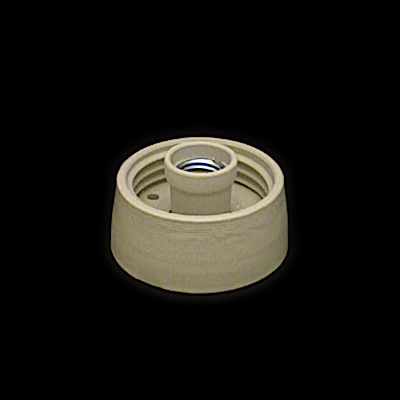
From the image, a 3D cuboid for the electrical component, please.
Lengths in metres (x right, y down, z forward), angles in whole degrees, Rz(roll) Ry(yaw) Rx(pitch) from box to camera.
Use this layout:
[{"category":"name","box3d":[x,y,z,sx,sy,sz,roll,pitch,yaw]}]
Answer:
[{"category":"electrical component","box3d":[0.000,0.000,0.639,0.108,0.061,0.106,1,32,0]}]
